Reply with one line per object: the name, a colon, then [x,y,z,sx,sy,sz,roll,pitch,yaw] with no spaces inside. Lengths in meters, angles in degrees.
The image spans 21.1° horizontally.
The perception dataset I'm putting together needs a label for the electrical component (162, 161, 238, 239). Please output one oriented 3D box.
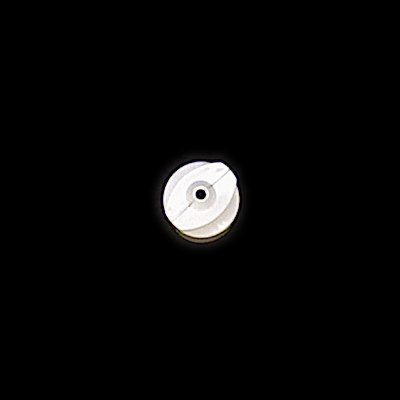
electrical component: [0.000,0.000,0.616,0.043,0.043,0.080,0,-6,1]
